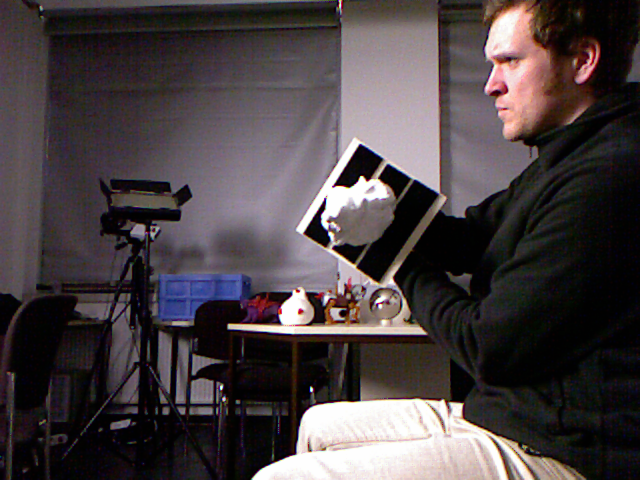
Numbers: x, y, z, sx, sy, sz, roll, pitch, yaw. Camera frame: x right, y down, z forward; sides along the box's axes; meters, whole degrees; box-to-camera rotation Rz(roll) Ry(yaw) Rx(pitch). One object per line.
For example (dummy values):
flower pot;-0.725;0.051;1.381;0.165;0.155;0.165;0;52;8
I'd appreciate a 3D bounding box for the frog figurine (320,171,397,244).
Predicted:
frog figurine;0.069;-0.049;0.886;0.137;0.123;0.161;-35;3;11
